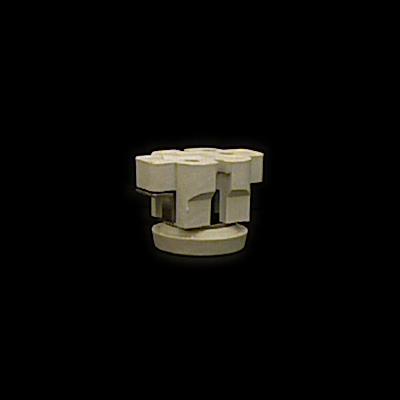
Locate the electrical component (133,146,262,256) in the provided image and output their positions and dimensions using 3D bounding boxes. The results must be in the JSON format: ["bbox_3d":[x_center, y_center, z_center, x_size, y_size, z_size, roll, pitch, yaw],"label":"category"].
[{"bbox_3d":[0.000,0.000,0.649,0.079,0.057,0.057,-8,15,-32],"label":"electrical component"}]
